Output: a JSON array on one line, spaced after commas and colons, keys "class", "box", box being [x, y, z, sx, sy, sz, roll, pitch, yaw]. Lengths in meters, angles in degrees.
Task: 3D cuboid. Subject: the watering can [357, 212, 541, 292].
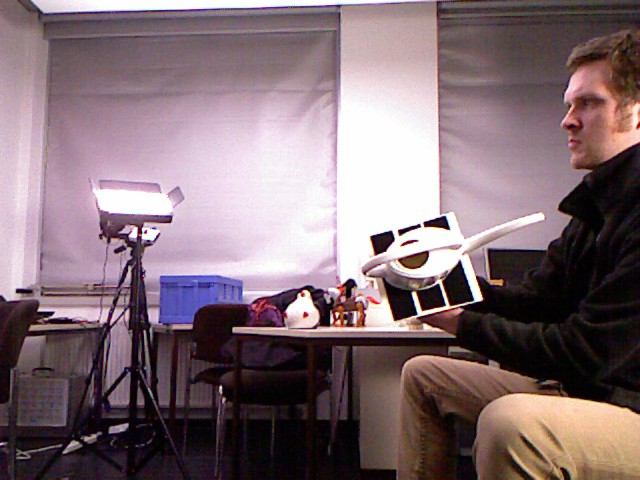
[{"class": "watering can", "box": [0.245, 0.028, 1.028, 0.348, 0.106, 0.222, -14, -15, 1]}]
